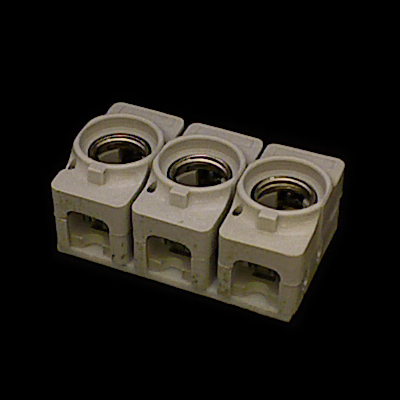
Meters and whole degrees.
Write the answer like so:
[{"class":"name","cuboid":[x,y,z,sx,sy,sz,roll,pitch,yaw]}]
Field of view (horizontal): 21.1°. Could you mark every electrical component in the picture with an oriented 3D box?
[{"class":"electrical component","cuboid":[0.000,0.000,0.635,0.149,0.063,0.088,15,44,16]}]
